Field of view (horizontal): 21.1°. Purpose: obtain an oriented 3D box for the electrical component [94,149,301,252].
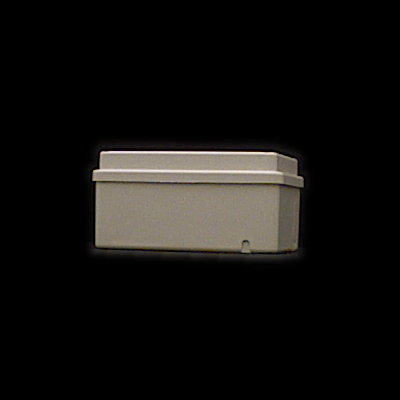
[{"bbox_3d":[0.000,0.000,0.647,0.113,0.057,0.078,2,0,15],"label":"electrical component"}]
